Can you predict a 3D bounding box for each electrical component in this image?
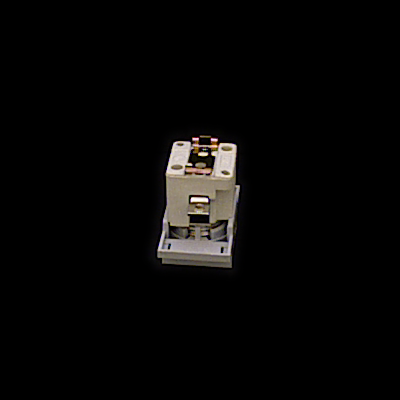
[{"bbox_3d":[0.000,0.000,0.634,0.042,0.064,0.080,3,31,4],"label":"electrical component"}]
